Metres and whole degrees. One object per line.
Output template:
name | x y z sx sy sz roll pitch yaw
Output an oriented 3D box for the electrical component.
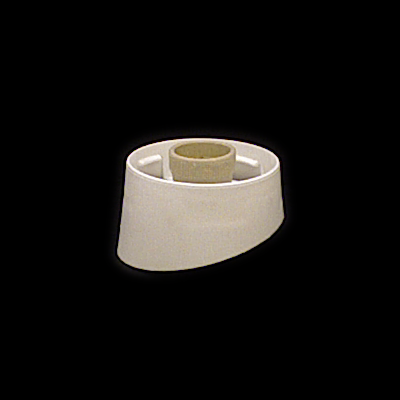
electrical component | 0.000 0.000 0.639 0.099 0.065 0.097 1 21 0
